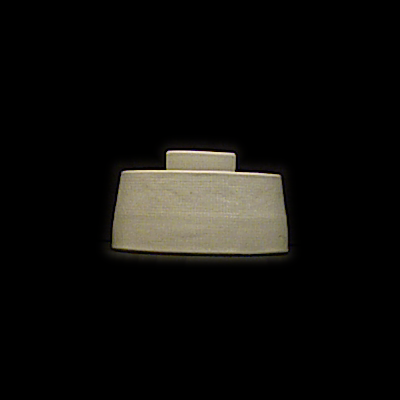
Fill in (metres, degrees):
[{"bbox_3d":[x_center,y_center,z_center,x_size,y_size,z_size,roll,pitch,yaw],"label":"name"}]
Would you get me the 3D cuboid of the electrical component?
[{"bbox_3d":[0.000,0.000,0.656,0.108,0.060,0.108,1,1,1],"label":"electrical component"}]
